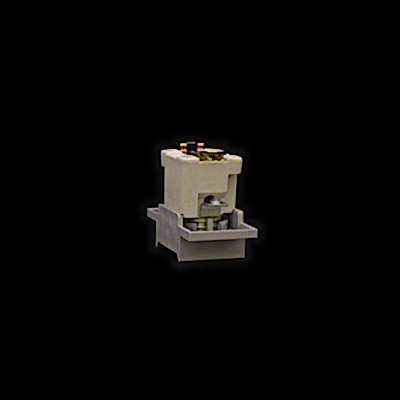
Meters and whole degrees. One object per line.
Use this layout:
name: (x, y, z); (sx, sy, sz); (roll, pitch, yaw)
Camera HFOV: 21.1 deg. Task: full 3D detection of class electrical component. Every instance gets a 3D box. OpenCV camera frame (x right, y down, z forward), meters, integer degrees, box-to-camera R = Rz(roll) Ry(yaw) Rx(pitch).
electrical component: (0.000, 0.000, 0.644); (0.042, 0.064, 0.080); (-3, 11, -20)
